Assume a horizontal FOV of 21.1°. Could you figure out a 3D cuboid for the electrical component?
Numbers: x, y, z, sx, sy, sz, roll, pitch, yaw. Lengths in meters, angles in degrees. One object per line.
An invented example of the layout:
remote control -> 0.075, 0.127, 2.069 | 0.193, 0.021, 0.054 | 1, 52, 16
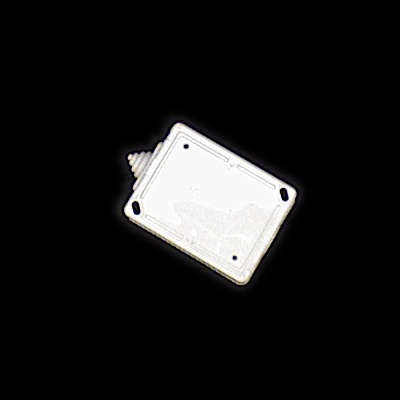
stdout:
electrical component -> 0.000, 0.000, 0.627 | 0.096, 0.062, 0.061 | 30, -5, 4
